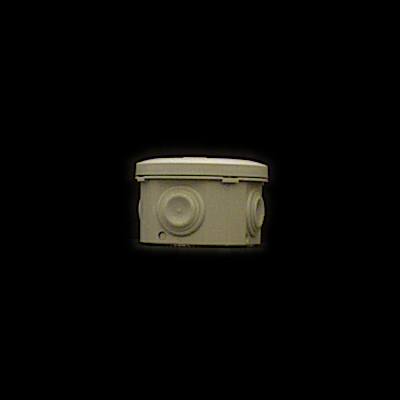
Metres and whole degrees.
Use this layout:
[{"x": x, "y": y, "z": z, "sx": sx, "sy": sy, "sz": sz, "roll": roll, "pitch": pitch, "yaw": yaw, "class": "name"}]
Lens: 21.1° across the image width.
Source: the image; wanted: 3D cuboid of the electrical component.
[{"x": 0.000, "y": 0.000, "z": 0.650, "sx": 0.080, "sy": 0.051, "sz": 0.080, "roll": 1, "pitch": 0, "yaw": 0, "class": "electrical component"}]
